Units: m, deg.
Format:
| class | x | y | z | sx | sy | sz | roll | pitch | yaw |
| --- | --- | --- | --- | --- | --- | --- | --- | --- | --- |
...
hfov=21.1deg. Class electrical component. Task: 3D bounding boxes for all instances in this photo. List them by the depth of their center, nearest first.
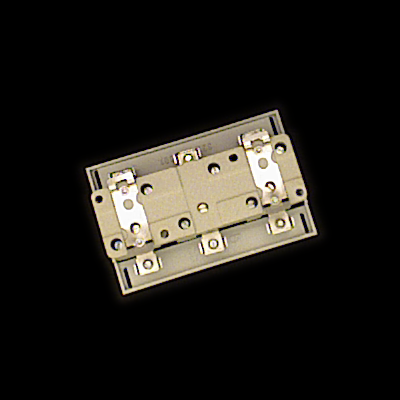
| class | x | y | z | sx | sy | sz | roll | pitch | yaw |
| --- | --- | --- | --- | --- | --- | --- | --- | --- | --- |
| electrical component | 0.000 | 0.000 | 0.635 | 0.121 | 0.079 | 0.063 | -17 | -6 | -2 |
